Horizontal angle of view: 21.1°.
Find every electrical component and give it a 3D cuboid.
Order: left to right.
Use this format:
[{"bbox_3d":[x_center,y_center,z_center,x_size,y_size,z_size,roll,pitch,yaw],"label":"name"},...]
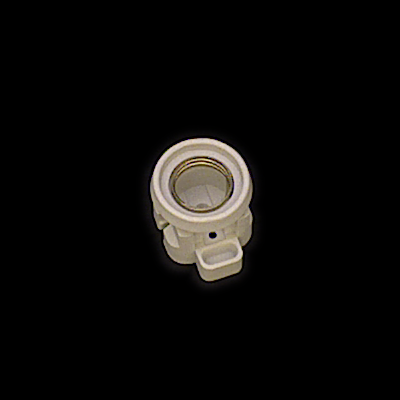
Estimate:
[{"bbox_3d":[0.000,0.000,0.629,0.058,0.078,0.057,-18,-26,-9],"label":"electrical component"}]
